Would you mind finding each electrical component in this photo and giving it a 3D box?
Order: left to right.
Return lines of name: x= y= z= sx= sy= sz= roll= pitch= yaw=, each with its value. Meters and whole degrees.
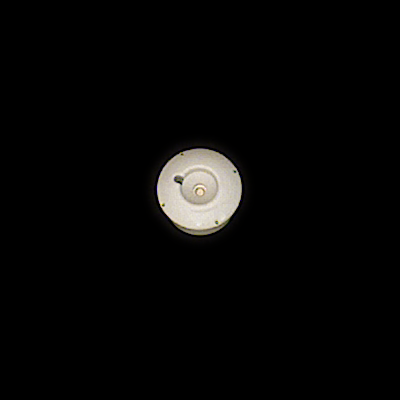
electrical component: x=0.000 y=0.000 z=0.633 sx=0.048 sy=0.048 sz=0.061 roll=0 pitch=-16 yaw=1
